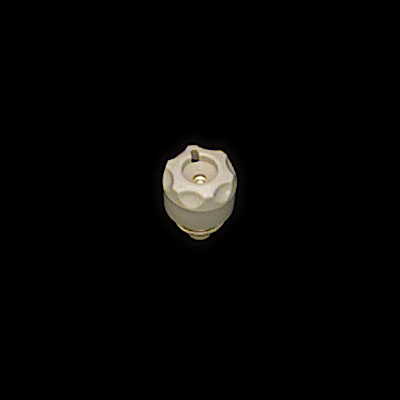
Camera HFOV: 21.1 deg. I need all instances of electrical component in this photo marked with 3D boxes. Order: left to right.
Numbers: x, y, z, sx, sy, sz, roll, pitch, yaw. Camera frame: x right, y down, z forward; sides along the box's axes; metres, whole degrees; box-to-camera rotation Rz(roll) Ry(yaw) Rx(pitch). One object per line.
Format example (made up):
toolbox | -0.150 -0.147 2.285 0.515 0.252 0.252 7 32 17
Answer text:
electrical component | 0.000 0.000 0.635 0.043 0.043 0.062 0 -36 -1
